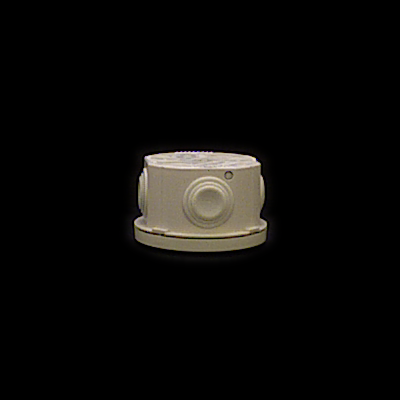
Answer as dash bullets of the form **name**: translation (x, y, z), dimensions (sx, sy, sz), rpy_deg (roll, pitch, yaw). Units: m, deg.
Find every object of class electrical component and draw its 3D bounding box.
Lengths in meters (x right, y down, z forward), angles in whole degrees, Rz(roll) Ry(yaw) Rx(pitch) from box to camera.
- **electrical component**: translation (0.000, 0.000, 0.645), dimensions (0.080, 0.051, 0.079), rpy_deg (1, 10, 0)
